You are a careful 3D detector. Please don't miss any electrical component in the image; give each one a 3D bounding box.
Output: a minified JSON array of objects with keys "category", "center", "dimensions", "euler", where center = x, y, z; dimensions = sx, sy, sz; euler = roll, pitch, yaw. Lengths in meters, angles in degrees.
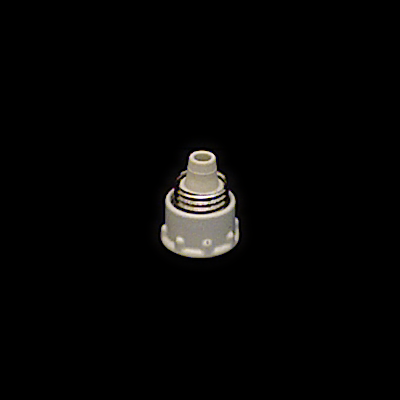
[{"category":"electrical component","center":[0.000,0.000,0.642],"dimensions":[0.048,0.063,0.047],"euler":[2,33,0]}]
